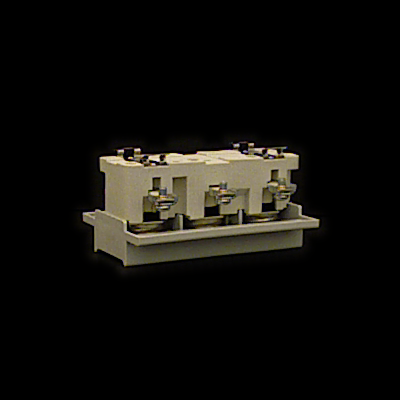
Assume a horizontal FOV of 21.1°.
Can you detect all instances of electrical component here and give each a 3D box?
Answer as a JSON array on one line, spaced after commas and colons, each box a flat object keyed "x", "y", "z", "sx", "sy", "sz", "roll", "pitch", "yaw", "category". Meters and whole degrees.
[{"x": 0.000, "y": 0.000, "z": 0.653, "sx": 0.122, "sy": 0.063, "sz": 0.077, "roll": -5, "pitch": 12, "yaw": -29, "category": "electrical component"}]
